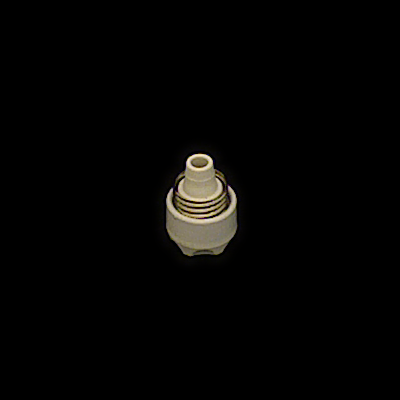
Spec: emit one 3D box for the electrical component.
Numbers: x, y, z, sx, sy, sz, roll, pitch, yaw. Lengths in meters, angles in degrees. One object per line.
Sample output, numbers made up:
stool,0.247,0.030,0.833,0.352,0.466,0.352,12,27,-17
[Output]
electrical component,0.000,0.000,0.638,0.043,0.062,0.043,0,42,1
